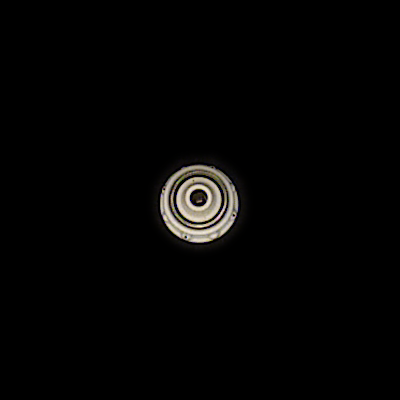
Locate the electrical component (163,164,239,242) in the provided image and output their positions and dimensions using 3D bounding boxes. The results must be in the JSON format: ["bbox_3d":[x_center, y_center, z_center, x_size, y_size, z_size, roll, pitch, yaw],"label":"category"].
[{"bbox_3d":[0.000,0.000,0.635,0.048,0.048,0.062,0,-4,0],"label":"electrical component"}]
